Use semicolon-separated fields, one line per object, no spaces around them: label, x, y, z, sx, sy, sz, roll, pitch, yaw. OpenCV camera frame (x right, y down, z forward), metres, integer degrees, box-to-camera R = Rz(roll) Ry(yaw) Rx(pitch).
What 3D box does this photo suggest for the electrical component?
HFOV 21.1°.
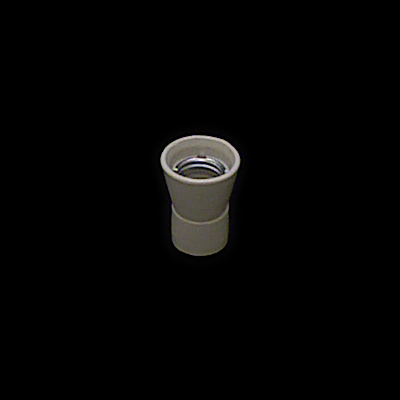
electrical component;0.000;0.000;0.631;0.044;0.066;0.044;0;41;0
